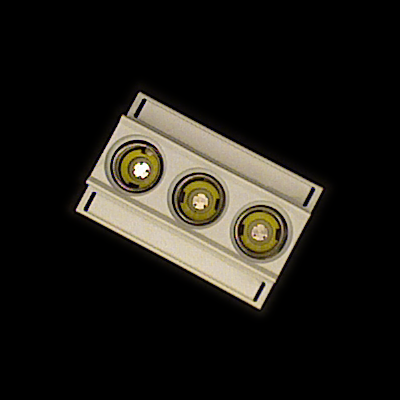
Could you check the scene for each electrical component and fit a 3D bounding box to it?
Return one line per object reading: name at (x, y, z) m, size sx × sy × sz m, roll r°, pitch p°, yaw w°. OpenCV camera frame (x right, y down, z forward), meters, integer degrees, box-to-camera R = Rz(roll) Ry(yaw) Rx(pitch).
electrical component at (0.000, 0.000, 0.637) m, size 0.121 × 0.079 × 0.063 m, roll 28°, pitch -3°, yaw 3°
